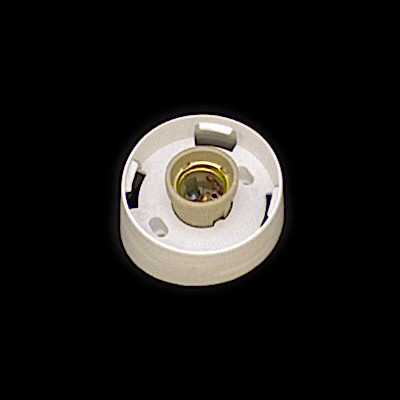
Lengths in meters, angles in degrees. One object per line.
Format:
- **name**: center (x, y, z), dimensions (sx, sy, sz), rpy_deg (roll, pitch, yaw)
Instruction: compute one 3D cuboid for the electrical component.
- **electrical component**: center (0.000, 0.000, 0.625), dimensions (0.099, 0.099, 0.064), rpy_deg (0, -27, 0)
